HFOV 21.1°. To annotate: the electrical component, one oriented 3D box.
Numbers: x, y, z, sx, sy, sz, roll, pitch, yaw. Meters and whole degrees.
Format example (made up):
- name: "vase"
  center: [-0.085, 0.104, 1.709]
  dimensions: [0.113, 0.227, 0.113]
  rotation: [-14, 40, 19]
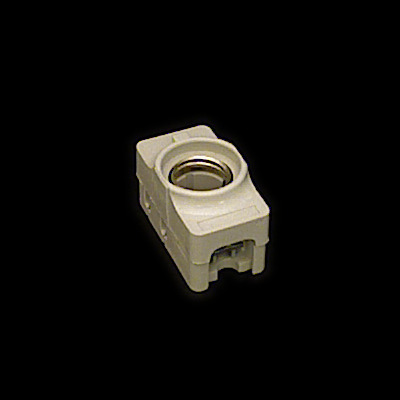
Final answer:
- name: "electrical component"
  center: [0.000, 0.000, 0.640]
  dimensions: [0.050, 0.056, 0.088]
  rotation: [-17, 46, -18]
